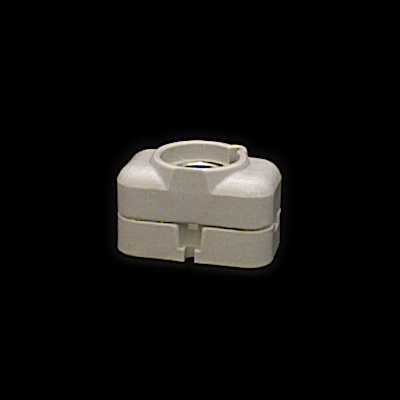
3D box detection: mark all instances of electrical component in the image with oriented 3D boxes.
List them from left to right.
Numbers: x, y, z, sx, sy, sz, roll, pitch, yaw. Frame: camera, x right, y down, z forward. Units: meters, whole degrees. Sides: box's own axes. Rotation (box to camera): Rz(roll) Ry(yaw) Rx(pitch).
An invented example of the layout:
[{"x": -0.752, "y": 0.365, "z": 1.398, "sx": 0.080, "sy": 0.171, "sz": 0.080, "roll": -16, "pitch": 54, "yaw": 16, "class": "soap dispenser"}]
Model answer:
[{"x": 0.000, "y": 0.000, "z": 0.647, "sx": 0.095, "sy": 0.060, "sz": 0.053, "roll": 6, "pitch": 23, "yaw": 10, "class": "electrical component"}]
